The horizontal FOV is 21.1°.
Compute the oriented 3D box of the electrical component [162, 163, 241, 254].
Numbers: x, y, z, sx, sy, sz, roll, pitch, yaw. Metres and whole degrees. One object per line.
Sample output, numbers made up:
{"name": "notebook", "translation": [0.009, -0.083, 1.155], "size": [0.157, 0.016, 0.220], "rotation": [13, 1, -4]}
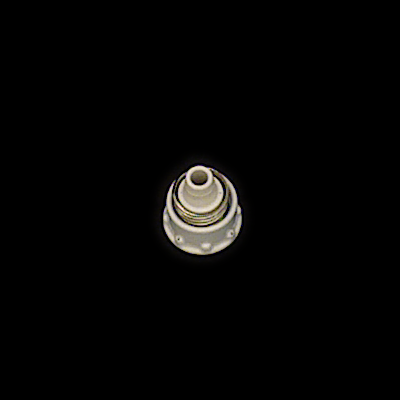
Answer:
{"name": "electrical component", "translation": [0.000, 0.000, 0.632], "size": [0.048, 0.048, 0.062], "rotation": [0, -27, 2]}
